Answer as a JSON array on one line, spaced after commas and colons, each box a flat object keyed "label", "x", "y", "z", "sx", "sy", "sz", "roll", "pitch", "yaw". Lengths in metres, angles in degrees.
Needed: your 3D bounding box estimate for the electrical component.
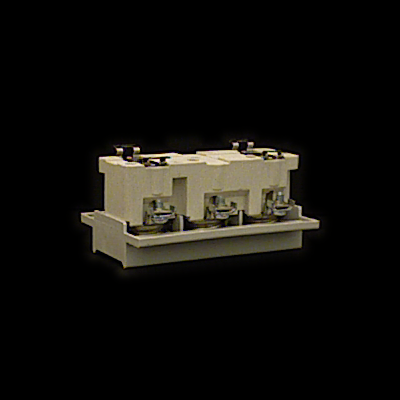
[{"label": "electrical component", "x": 0.000, "y": 0.000, "z": 0.649, "sx": 0.122, "sy": 0.063, "sz": 0.077, "roll": -5, "pitch": 13, "yaw": -30}]
